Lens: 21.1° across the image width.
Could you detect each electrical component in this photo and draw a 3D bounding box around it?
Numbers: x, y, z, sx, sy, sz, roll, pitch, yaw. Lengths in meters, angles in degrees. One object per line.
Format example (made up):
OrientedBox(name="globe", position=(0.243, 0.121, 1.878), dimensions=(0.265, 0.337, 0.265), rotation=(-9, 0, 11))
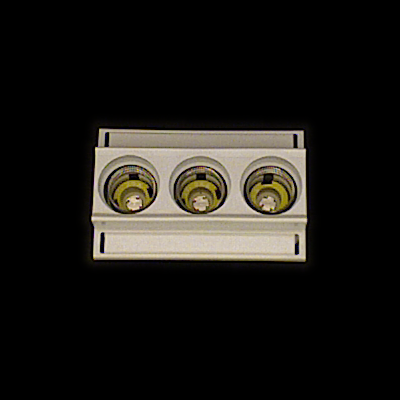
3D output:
OrientedBox(name="electrical component", position=(0.000, 0.000, 0.637), dimensions=(0.121, 0.079, 0.063), rotation=(1, -18, 1))
